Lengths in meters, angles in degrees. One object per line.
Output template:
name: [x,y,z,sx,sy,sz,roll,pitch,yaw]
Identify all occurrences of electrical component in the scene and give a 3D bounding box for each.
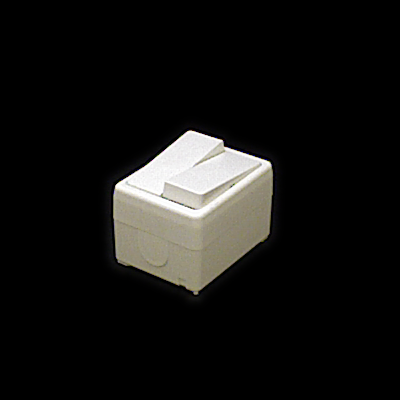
electrical component: [0.000,0.000,0.636,0.061,0.061,0.095,21,37,29]
